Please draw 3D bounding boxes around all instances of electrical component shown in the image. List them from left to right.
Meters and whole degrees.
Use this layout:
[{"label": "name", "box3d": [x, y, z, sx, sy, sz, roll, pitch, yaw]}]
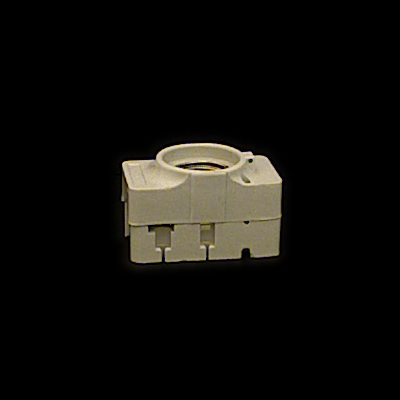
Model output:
[{"label": "electrical component", "box3d": [0.000, 0.000, 0.646, 0.090, 0.056, 0.049, -3, 22, -10]}]
